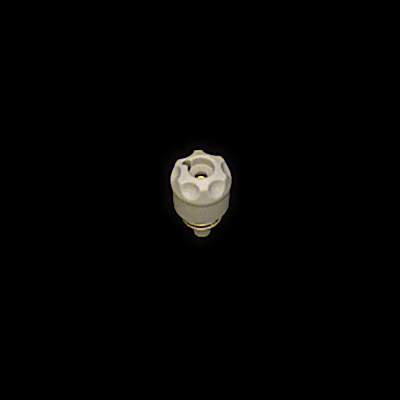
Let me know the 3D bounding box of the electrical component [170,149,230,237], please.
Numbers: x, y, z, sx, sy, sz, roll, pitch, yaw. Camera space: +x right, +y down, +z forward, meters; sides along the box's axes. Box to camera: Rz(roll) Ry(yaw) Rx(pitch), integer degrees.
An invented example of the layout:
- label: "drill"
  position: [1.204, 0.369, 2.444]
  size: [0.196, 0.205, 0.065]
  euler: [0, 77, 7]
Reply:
- label: "electrical component"
  position: [0.000, 0.000, 0.636]
  size: [0.035, 0.035, 0.062]
  euler: [0, -37, 0]
